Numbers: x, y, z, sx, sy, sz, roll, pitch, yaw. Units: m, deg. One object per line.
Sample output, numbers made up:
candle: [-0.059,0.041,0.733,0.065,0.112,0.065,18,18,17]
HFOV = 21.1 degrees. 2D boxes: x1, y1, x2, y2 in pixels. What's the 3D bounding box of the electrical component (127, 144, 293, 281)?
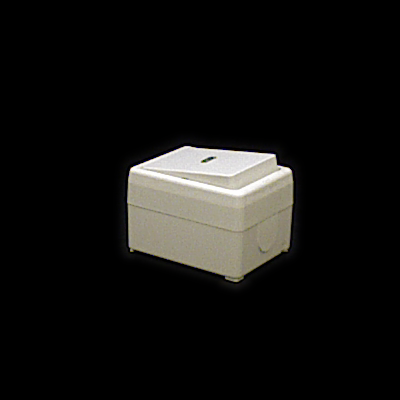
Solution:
electrical component: [0.000,0.000,0.640,0.095,0.061,0.061,14,24,31]
